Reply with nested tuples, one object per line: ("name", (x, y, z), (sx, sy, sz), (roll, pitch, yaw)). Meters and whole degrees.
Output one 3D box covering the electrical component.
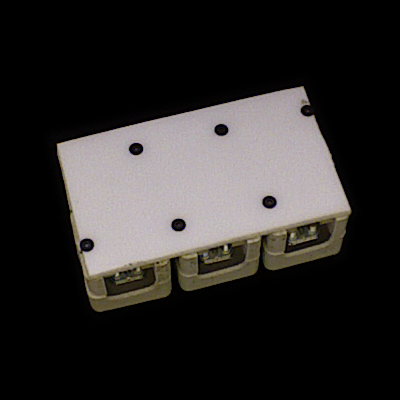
("electrical component", (0.000, 0.000, 0.630), (0.150, 0.089, 0.062), (-13, -27, -7))
